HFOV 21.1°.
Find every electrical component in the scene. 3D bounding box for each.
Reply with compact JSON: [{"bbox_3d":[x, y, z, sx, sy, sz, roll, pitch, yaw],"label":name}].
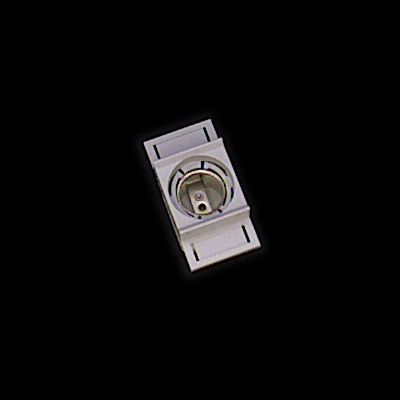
[{"bbox_3d":[0.000,0.000,0.624,0.042,0.081,0.063,-19,-15,-4],"label":"electrical component"}]
